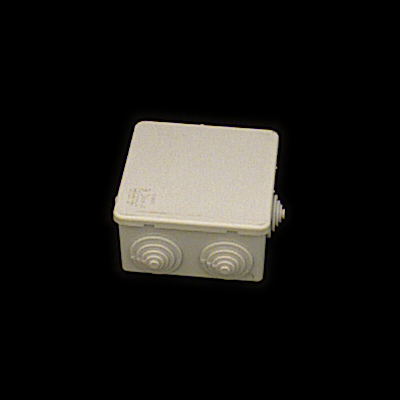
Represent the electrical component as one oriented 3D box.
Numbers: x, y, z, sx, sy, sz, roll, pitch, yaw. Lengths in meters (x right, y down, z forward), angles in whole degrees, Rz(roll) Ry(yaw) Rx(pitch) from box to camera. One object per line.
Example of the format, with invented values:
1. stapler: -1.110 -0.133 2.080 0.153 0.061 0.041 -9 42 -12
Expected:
1. electrical component: 0.000 0.000 0.641 0.099 0.049 0.099 5 43 4
